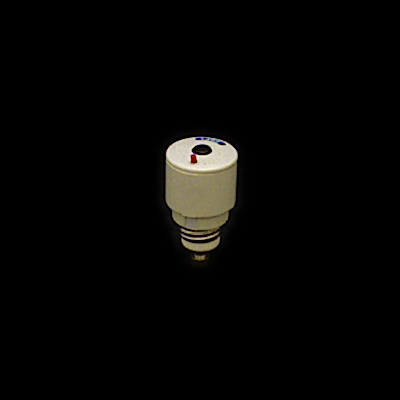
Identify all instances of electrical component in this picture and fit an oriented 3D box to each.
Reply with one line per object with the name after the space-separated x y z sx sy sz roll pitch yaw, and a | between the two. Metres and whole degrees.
0.000 0.000 0.627 0.040 0.079 0.039 1 32 0 | electrical component
